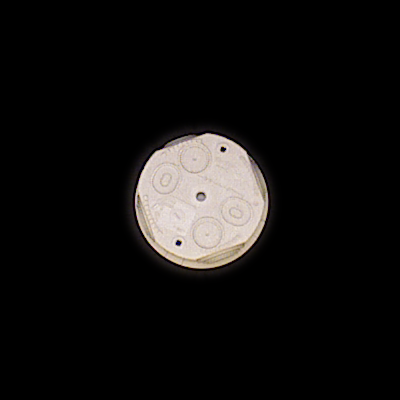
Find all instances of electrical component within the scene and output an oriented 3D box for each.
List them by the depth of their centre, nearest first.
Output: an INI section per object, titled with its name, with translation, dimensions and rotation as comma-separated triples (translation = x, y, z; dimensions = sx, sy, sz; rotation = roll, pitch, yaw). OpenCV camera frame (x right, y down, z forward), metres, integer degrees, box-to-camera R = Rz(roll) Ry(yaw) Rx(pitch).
[electrical component]
translation = 0.000, 0.000, 0.633
dimensions = 0.080, 0.080, 0.050
rotation = 0, -6, 1
